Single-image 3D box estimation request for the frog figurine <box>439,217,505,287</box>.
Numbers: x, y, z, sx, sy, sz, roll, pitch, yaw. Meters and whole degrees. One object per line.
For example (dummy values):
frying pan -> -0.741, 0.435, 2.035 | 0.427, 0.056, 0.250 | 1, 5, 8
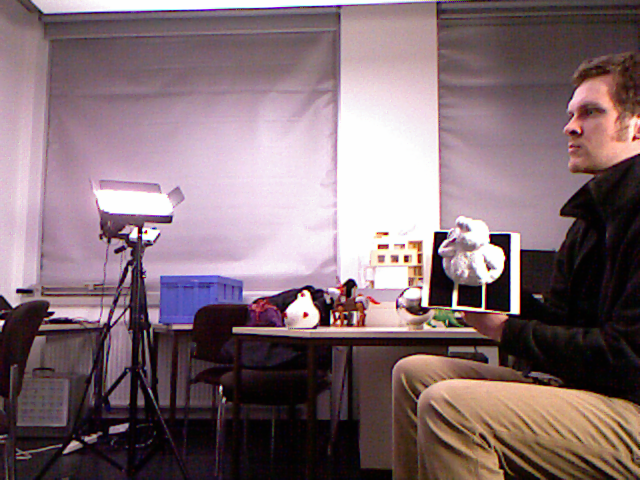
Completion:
frog figurine -> 0.331, 0.028, 1.118 | 0.138, 0.125, 0.156 | 21, -23, 22
